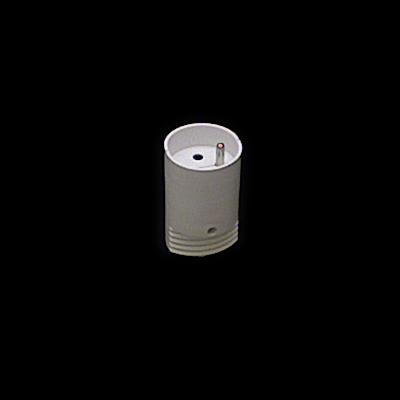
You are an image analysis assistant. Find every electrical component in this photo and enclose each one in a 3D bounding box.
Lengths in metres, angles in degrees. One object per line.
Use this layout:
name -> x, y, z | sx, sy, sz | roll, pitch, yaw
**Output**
electrical component -> 0.000, 0.000, 0.625 | 0.043, 0.082, 0.042 | 1, 42, -1
